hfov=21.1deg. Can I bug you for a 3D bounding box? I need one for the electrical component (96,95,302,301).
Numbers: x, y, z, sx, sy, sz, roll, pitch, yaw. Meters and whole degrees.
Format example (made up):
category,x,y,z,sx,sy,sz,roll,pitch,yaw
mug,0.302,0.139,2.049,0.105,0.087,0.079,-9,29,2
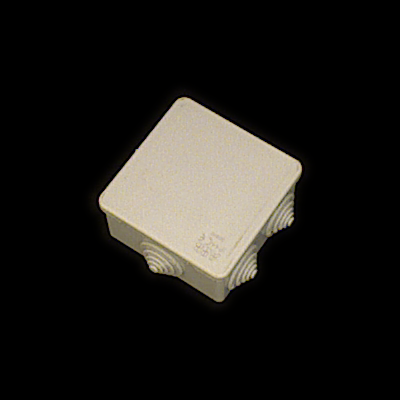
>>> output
category,x,y,z,sx,sy,sz,roll,pitch,yaw
electrical component,0.000,0.000,0.639,0.099,0.100,0.048,31,-23,14
